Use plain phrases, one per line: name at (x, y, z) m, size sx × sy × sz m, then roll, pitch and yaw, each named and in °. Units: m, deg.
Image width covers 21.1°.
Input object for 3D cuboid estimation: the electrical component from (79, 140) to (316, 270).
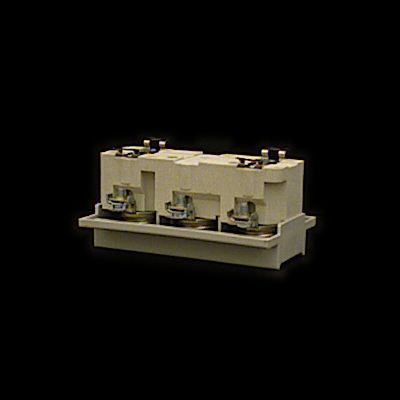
electrical component at (0.000, 0.000, 0.648) m, size 0.120 × 0.063 × 0.078 m, roll 6°, pitch 13°, yaw 24°
